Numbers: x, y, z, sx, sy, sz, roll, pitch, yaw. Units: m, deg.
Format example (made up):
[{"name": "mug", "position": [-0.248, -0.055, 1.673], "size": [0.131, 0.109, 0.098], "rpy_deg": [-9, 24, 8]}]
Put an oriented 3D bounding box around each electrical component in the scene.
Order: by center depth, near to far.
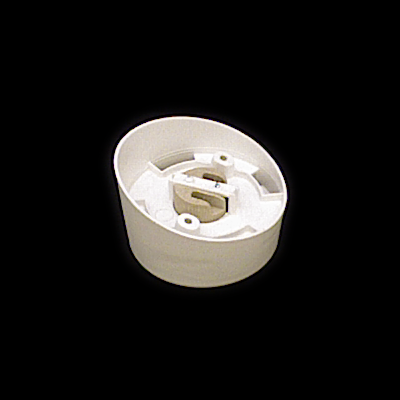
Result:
[{"name": "electrical component", "position": [0.000, 0.000, 0.628], "size": [0.099, 0.065, 0.098], "rpy_deg": [0, 42, 0]}]
